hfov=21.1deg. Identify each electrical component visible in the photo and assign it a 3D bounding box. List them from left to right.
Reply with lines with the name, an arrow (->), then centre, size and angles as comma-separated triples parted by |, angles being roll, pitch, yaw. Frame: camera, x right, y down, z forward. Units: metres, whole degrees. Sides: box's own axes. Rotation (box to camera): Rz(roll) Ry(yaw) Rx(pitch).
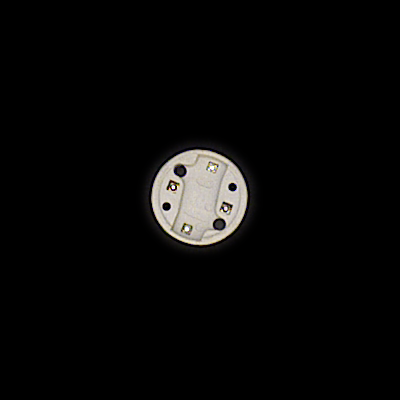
electrical component -> 0.000, 0.000, 0.635 | 0.055, 0.055, 0.047 | 0, -7, 0
